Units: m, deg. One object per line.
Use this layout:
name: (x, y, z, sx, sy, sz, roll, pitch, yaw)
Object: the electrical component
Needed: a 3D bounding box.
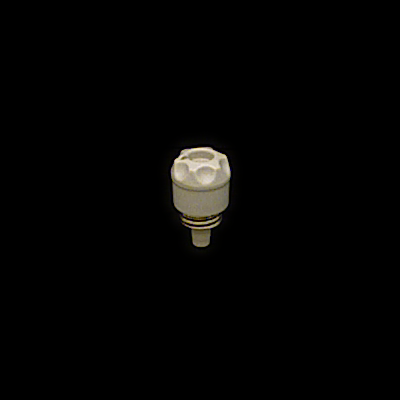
electrical component: (0.000, 0.000, 0.642, 0.035, 0.062, 0.034, 1, 32, 0)
